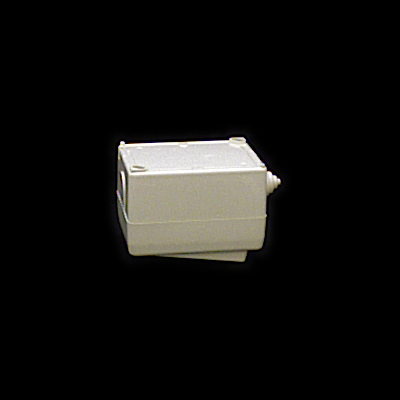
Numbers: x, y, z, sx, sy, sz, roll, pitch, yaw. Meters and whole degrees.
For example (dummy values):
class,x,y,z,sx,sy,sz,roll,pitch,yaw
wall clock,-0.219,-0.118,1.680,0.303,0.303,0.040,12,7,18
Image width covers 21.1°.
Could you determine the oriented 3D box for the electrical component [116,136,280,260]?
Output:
class,x,y,z,sx,sy,sz,roll,pitch,yaw
electrical component,0.000,0.000,0.642,0.096,0.061,0.061,-3,20,-10
